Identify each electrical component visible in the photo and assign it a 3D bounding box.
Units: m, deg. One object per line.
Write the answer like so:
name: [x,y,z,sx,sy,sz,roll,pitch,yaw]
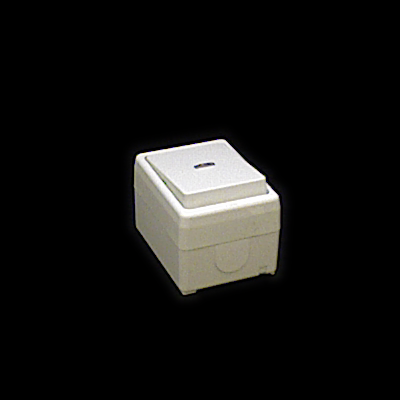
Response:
electrical component: [0.000,0.000,0.636,0.062,0.062,0.095,-12,33,-20]
